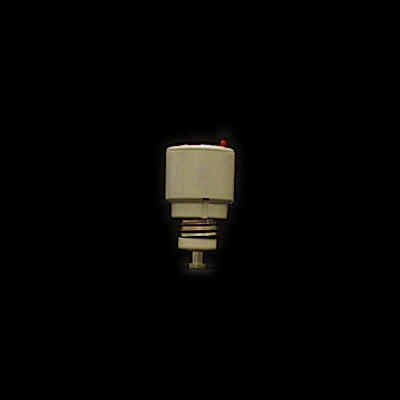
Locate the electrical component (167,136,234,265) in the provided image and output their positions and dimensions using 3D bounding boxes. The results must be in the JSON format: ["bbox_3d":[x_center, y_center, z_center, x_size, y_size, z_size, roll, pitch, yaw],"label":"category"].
[{"bbox_3d":[0.000,0.000,0.649,0.040,0.078,0.040,2,1,0],"label":"electrical component"}]
